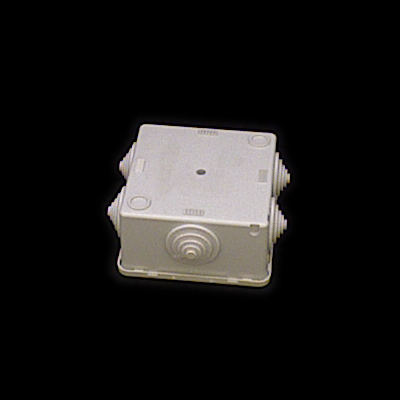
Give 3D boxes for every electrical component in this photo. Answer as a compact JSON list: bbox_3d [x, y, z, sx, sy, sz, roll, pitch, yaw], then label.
[{"bbox_3d":[0.000,0.000,0.633,0.100,0.049,0.099,5,42,4],"label":"electrical component"}]
